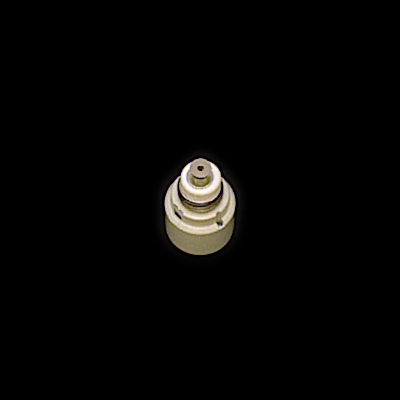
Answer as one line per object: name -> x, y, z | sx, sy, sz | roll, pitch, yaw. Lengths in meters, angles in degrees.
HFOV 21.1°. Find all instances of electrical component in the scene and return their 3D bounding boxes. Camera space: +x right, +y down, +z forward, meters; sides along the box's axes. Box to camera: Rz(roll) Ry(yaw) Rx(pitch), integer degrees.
electrical component -> 0.000, 0.000, 0.619 | 0.040, 0.040, 0.078 | 0, -27, -1
